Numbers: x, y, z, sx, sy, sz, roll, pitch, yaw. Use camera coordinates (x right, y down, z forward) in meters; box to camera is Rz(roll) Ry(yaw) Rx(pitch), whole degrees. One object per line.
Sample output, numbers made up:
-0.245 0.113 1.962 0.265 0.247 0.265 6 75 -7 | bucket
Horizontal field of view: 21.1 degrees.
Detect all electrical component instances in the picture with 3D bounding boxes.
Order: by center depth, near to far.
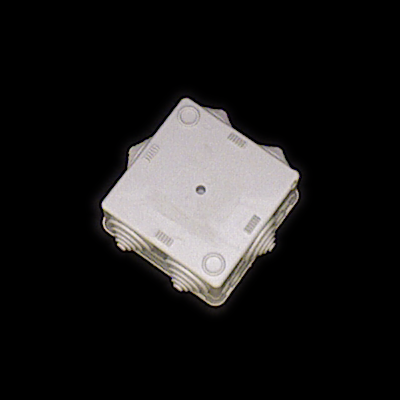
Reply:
0.000 0.000 0.631 0.100 0.100 0.048 35 -13 10 | electrical component
